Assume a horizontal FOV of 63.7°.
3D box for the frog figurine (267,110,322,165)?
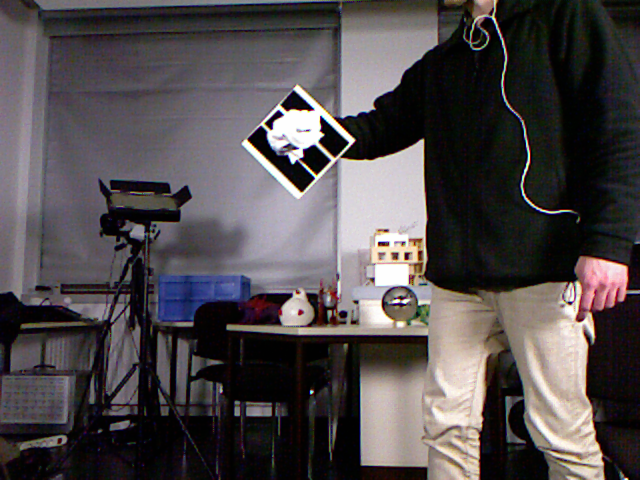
[{"bbox_3d":[-0.063,-0.259,1.218,0.137,0.124,0.158,-24,-9,2],"label":"frog figurine"}]
